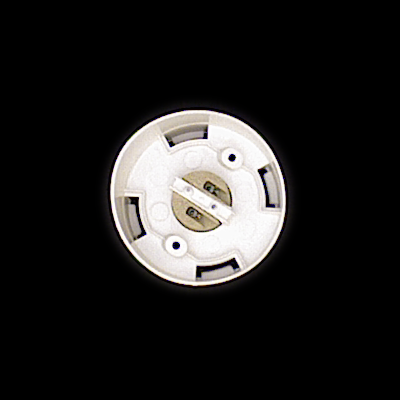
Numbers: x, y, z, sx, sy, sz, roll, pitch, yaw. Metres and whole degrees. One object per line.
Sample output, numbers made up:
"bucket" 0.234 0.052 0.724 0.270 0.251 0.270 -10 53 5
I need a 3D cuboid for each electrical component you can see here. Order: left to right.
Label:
"electrical component" 0.000 0.000 0.624 0.099 0.099 0.064 0 -7 1
